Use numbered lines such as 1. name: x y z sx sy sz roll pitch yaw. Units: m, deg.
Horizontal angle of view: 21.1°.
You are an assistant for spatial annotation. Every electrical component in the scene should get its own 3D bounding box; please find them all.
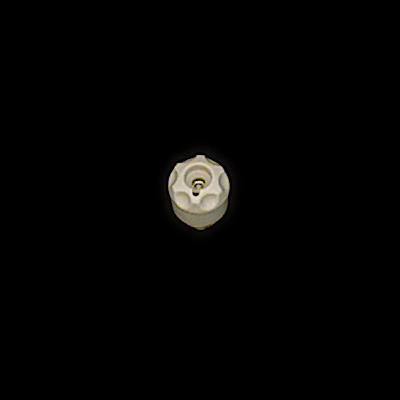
1. electrical component: 0.000 0.000 0.633 0.035 0.035 0.061 0 -27 1
